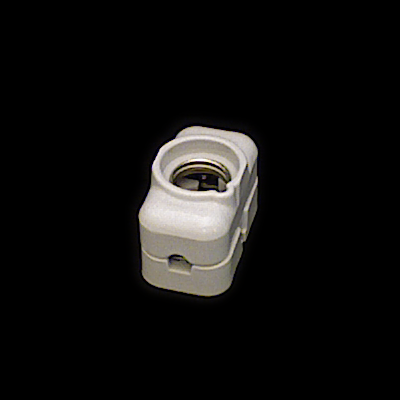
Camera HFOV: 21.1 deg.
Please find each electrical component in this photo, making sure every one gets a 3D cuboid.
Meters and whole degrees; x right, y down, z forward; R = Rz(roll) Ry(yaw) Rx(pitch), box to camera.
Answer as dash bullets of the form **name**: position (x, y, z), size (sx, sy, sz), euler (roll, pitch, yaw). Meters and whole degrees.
- **electrical component**: position (0.000, 0.000, 0.637), size (0.053, 0.060, 0.094), euler (10, 44, 11)
